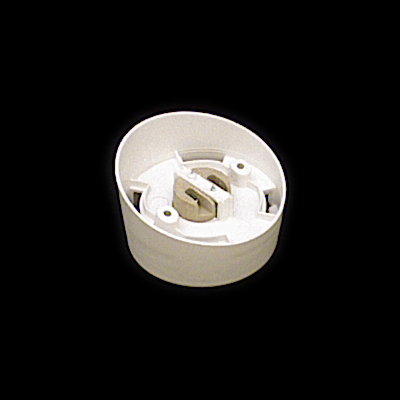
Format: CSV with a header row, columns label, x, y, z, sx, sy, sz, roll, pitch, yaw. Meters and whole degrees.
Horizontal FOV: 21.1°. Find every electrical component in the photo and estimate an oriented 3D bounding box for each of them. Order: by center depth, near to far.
label,x,y,z,sx,sy,sz,roll,pitch,yaw
electrical component,0.000,0.000,0.629,0.099,0.065,0.098,0,41,0
